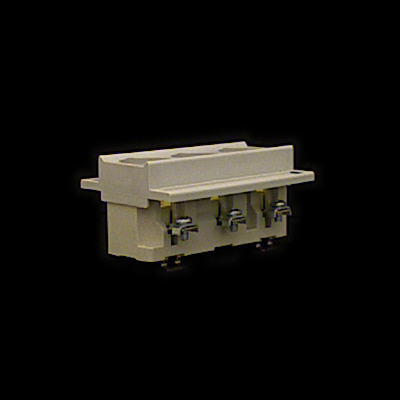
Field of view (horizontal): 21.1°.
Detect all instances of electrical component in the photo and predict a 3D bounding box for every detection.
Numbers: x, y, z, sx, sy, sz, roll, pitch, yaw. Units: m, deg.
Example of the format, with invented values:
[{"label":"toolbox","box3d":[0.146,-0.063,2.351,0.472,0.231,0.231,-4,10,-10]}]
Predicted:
[{"label":"electrical component","box3d":[0.000,0.000,0.657,0.121,0.063,0.078,-9,14,-43]}]
